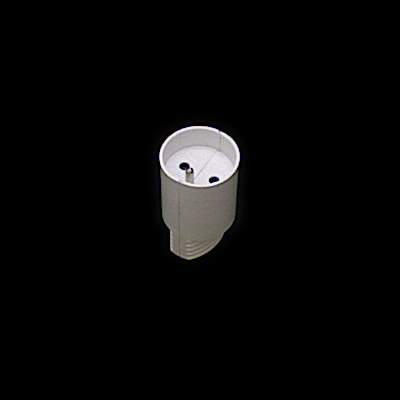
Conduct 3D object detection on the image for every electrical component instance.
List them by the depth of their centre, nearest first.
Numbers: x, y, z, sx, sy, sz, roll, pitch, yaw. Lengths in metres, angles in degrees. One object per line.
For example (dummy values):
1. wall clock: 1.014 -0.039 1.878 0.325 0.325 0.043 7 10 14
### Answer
1. electrical component: 0.000 0.000 0.617 0.043 0.043 0.081 0 -38 1
